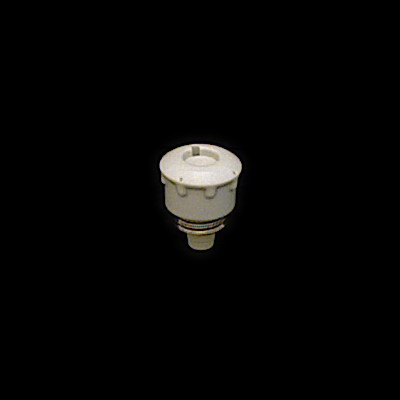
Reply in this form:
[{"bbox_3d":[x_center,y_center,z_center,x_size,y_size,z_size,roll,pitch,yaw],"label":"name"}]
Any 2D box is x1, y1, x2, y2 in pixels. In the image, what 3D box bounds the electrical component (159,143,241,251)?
[{"bbox_3d":[0.000,0.000,0.640,0.048,0.063,0.047,1,32,0],"label":"electrical component"}]
